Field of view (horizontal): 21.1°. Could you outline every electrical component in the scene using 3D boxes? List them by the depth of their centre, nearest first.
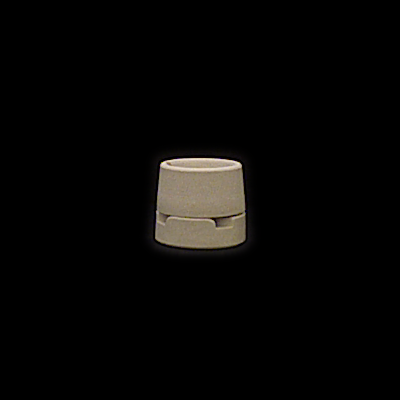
[{"bbox_3d":[0.000,0.000,0.646,0.055,0.047,0.055,0,10,0],"label":"electrical component"}]
